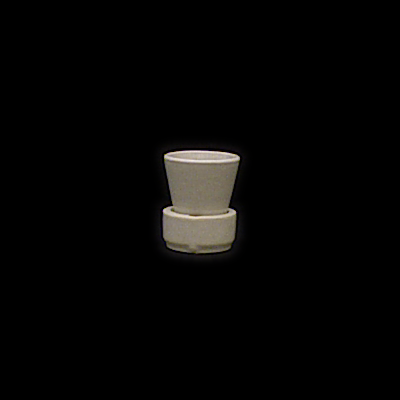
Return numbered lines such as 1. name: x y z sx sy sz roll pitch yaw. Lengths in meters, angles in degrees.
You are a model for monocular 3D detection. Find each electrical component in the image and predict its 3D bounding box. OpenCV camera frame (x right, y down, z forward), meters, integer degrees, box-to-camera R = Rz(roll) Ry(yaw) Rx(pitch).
1. electrical component: 0.000 0.000 0.646 0.045 0.055 0.044 2 12 0
